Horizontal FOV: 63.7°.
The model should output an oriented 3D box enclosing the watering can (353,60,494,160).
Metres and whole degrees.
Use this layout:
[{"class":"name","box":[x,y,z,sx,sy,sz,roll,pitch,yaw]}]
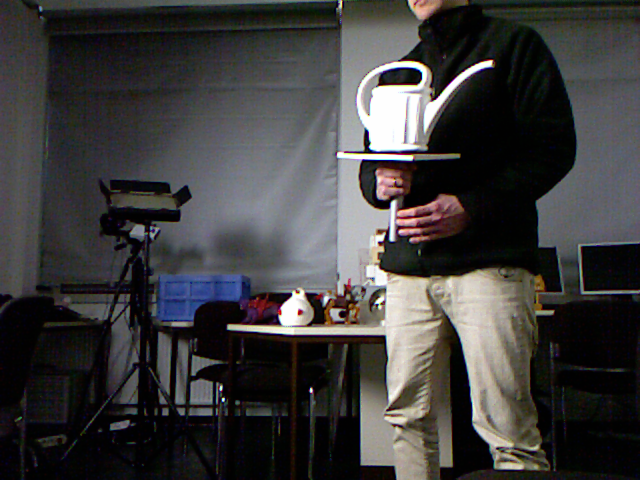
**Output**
[{"class":"watering can","box":[0.215,-0.288,1.149,0.349,0.222,0.105,10,18,41]}]
